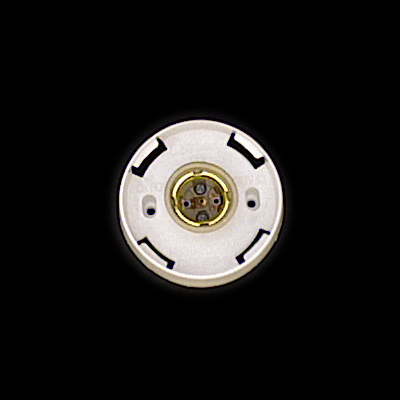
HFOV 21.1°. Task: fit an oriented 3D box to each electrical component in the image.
[{"bbox_3d":[0.000,0.000,0.625,0.099,0.099,0.064,0,-7,0],"label":"electrical component"}]
